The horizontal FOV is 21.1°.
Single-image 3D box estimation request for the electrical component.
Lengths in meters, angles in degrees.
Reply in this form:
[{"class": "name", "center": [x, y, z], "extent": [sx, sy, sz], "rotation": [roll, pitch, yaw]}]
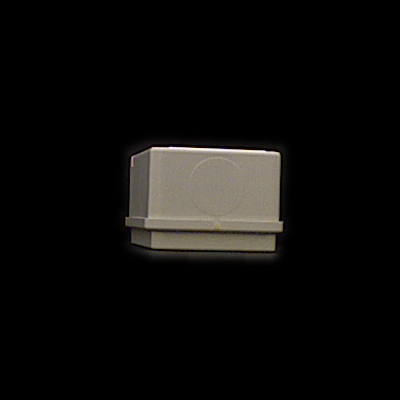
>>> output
[{"class": "electrical component", "center": [0.000, 0.000, 0.649], "extent": [0.078, 0.057, 0.113], "rotation": [1, 0, -10]}]
